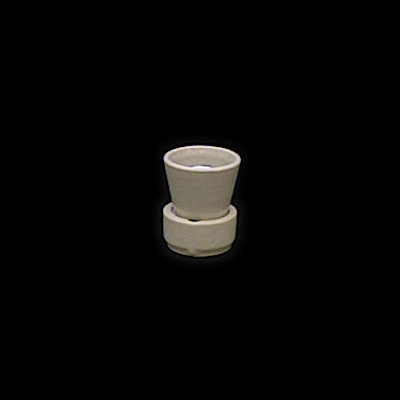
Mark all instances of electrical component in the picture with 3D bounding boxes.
[{"bbox_3d":[0.000,0.000,0.641,0.045,0.056,0.044,1,22,0],"label":"electrical component"}]
